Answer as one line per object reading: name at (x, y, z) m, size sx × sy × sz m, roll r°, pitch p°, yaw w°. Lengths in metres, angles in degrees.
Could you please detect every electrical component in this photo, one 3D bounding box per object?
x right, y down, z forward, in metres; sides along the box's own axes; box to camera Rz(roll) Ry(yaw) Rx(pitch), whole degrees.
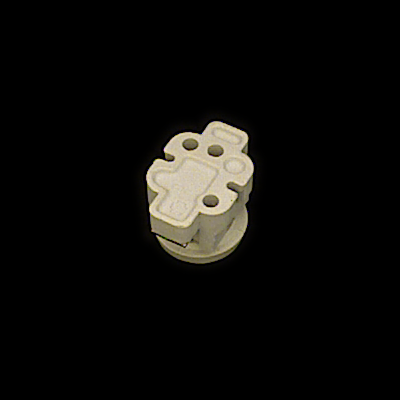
electrical component at (0.000, 0.000, 0.635) m, size 0.057 × 0.078 × 0.057 m, roll 23°, pitch -32°, yaw 15°
